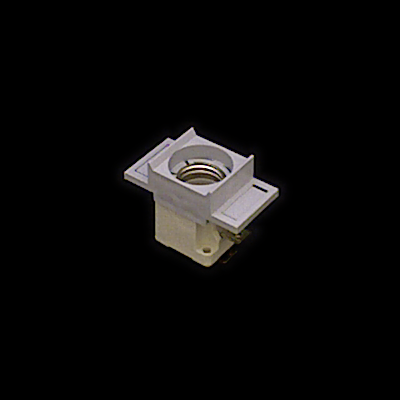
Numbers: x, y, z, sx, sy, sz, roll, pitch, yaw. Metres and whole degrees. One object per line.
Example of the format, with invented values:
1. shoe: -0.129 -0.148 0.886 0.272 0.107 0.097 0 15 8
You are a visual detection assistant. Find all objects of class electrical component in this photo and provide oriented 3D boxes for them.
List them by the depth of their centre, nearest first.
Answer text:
1. electrical component: 0.000 0.000 0.628 0.080 0.064 0.042 27 47 27
